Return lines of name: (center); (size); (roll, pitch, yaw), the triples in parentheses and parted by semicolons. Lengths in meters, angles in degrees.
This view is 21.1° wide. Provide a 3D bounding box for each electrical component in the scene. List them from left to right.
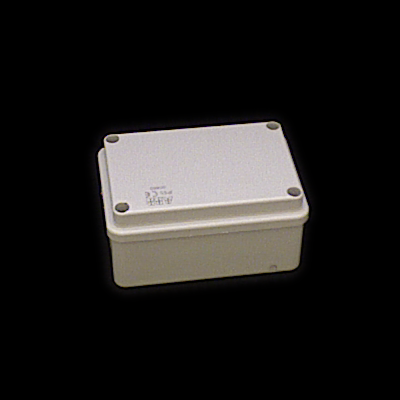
electrical component: (0.000, 0.000, 0.629); (0.113, 0.057, 0.077); (-5, 42, -7)
